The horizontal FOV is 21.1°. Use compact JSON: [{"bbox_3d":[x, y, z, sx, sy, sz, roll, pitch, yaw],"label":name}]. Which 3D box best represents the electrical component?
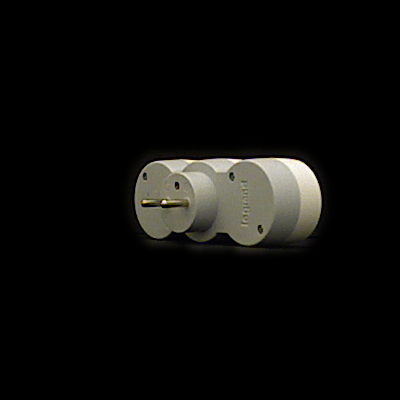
[{"bbox_3d":[0.000,0.000,0.656,0.074,0.052,0.136,-2,2,-39],"label":"electrical component"}]
